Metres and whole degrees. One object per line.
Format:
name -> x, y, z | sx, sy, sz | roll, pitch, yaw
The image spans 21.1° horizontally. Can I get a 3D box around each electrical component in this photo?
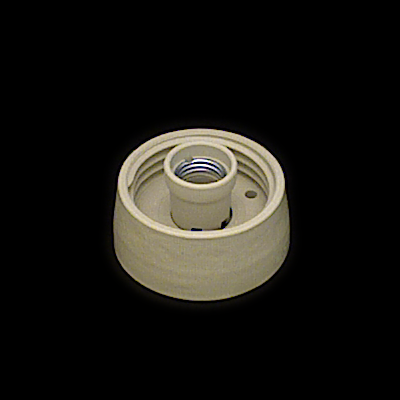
electrical component -> 0.000, 0.000, 0.638 | 0.108, 0.061, 0.107 | 1, 43, 0
